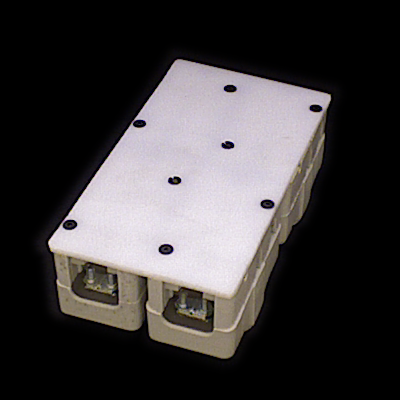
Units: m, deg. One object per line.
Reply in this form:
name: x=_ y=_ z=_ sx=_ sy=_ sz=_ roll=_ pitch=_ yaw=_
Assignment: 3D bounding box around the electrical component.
electrical component: x=0.000 y=0.000 z=0.630 sx=0.105 sy=0.061 sz=0.185 roll=15 pitch=44 yaw=15
